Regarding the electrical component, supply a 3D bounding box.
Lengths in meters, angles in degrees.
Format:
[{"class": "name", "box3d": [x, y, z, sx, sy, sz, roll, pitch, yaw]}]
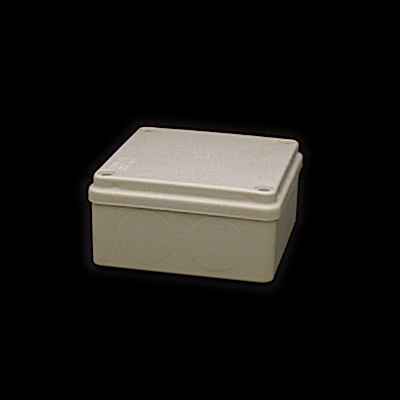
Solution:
[{"class": "electrical component", "box3d": [0.000, 0.000, 0.640, 0.108, 0.057, 0.107, 6, 21, 11]}]
